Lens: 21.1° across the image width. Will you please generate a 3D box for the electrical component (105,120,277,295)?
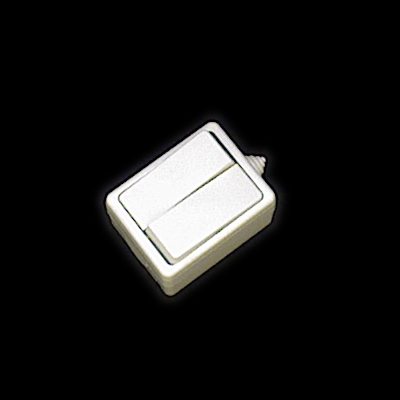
[{"bbox_3d":[0.000,0.000,0.626,0.096,0.062,0.060,-36,-14,-10],"label":"electrical component"}]
